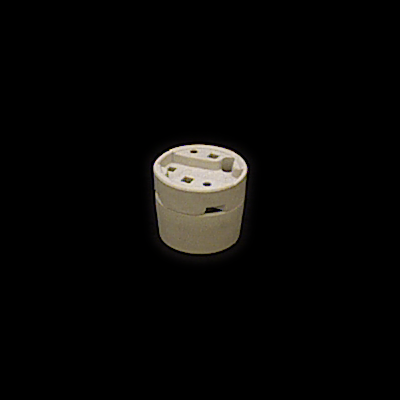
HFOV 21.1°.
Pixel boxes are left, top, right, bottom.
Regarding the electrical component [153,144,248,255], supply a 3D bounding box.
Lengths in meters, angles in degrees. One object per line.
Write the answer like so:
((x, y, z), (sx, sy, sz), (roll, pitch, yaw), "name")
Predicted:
((0.000, 0.000, 0.639), (0.055, 0.047, 0.055), (1, 32, 0), "electrical component")
